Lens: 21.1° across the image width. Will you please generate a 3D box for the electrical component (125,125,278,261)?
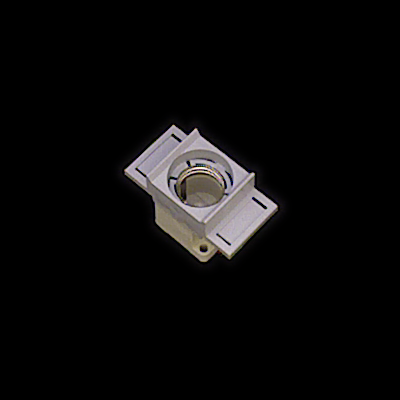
[{"bbox_3d":[0.000,0.000,0.623,0.081,0.042,0.063,39,-22,18],"label":"electrical component"}]
